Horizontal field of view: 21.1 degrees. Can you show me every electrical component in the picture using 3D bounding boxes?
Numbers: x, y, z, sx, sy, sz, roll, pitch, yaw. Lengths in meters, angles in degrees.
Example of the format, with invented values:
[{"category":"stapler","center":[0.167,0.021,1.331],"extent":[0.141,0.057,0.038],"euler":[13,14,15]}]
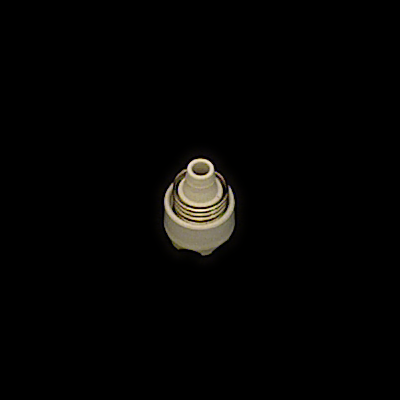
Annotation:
[{"category":"electrical component","center":[0.000,0.000,0.636],"extent":[0.043,0.043,0.062],"euler":[0,-38,-2]}]
